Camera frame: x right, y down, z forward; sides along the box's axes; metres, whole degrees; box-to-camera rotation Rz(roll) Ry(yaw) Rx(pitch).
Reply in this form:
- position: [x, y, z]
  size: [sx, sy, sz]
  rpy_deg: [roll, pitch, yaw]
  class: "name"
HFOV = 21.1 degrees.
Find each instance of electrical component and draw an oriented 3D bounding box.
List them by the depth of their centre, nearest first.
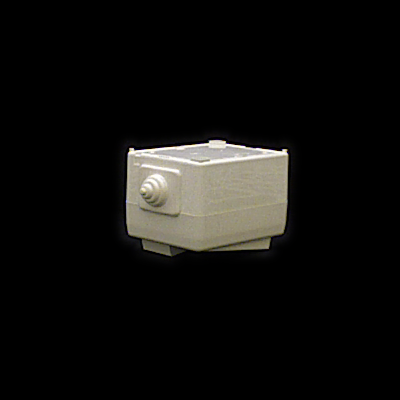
- position: [0.000, 0.000, 0.637]
  size: [0.061, 0.061, 0.096]
  rpy_deg: [11, 14, 42]
  class: "electrical component"
